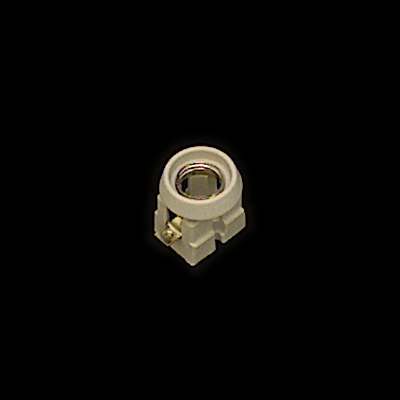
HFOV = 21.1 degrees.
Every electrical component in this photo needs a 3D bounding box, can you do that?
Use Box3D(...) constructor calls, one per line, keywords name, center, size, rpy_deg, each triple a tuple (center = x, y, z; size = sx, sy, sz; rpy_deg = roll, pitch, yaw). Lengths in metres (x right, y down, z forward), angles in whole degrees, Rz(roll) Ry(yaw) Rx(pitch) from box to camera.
Box3D(name="electrical component", center=(0.000, 0.000, 0.637), size=(0.067, 0.055, 0.048), rpy_deg=(-38, 60, -25))
